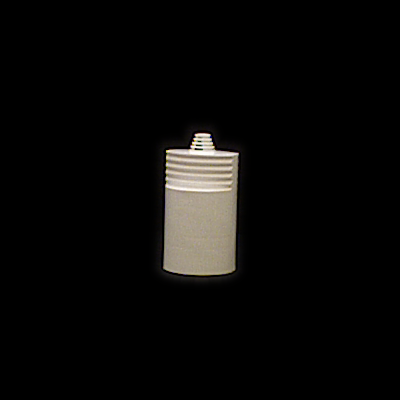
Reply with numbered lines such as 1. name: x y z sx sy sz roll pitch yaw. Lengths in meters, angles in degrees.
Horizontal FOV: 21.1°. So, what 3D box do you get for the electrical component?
1. electrical component: 0.000 0.000 0.642 0.043 0.081 0.043 1 11 0
